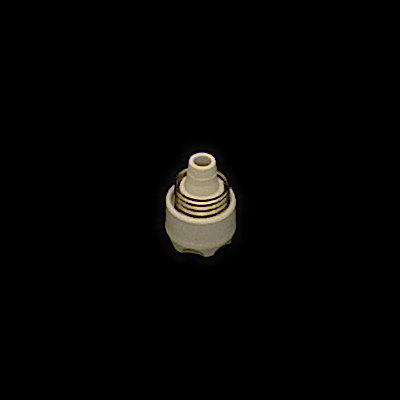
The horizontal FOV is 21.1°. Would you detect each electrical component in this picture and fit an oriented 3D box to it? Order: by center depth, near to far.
[{"bbox_3d":[0.000,0.000,0.638,0.043,0.062,0.043,1,42,-1],"label":"electrical component"}]
